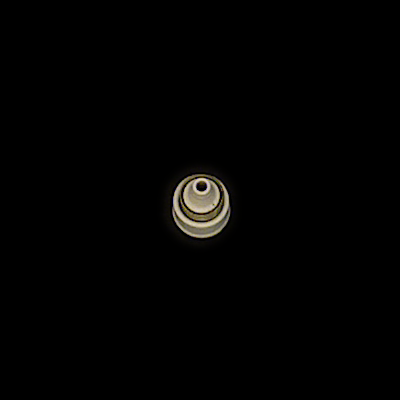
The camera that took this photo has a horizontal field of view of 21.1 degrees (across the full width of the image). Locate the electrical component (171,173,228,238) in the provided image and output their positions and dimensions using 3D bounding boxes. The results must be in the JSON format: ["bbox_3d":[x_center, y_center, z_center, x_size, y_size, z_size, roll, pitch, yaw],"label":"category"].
[{"bbox_3d":[0.000,0.000,0.637,0.035,0.035,0.061,0,-16,-1],"label":"electrical component"}]
